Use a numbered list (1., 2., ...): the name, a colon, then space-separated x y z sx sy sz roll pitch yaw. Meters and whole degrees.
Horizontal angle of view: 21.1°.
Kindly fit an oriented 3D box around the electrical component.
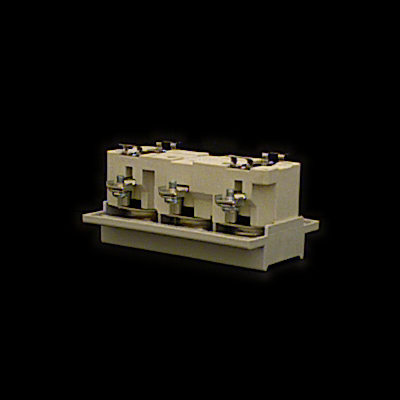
1. electrical component: 0.000 0.000 0.654 0.120 0.063 0.079 9 13 34
